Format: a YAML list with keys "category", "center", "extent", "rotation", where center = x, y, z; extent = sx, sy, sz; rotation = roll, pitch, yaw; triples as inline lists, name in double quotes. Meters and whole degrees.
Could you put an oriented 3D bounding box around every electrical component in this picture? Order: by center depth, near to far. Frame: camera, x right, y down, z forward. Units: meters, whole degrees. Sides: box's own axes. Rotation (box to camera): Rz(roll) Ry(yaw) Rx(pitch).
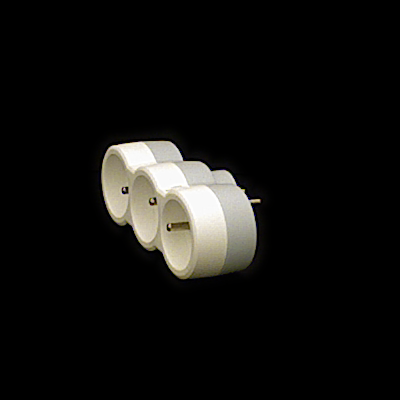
- category: "electrical component"
  center: [0.000, 0.000, 0.647]
  extent: [0.074, 0.053, 0.136]
  rotation: [-8, 23, -26]
